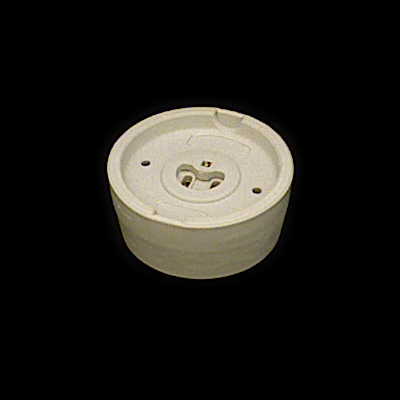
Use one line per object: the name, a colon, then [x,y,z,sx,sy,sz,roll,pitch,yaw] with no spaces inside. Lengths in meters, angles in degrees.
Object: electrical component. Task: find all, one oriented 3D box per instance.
electrical component: [0.000,0.000,0.641,0.108,0.061,0.106,1,43,0]
